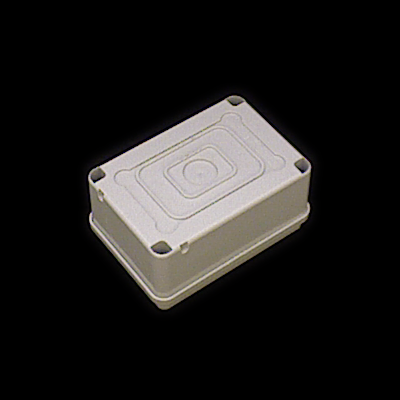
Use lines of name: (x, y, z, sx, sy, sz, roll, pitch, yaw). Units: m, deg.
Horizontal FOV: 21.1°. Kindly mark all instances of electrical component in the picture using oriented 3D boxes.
electrical component: (0.000, 0.000, 0.630, 0.113, 0.077, 0.057, -30, -32, -22)
